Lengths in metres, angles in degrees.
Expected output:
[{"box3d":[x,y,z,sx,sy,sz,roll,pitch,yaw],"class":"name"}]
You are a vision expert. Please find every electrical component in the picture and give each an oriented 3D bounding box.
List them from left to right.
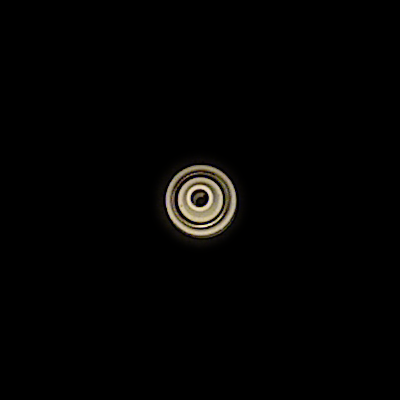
[{"box3d":[0.000,0.000,0.634,0.043,0.043,0.062,0,-4,1],"class":"electrical component"}]
